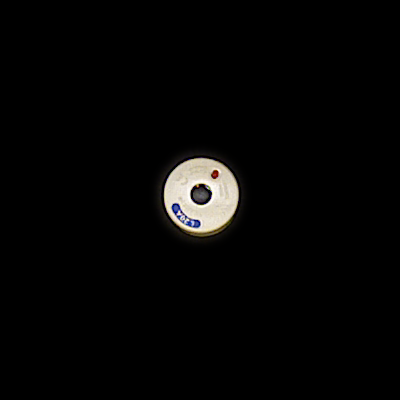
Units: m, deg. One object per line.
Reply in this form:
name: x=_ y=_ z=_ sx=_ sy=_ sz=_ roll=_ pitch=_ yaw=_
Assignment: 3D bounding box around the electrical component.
electrical component: x=0.000 y=0.000 z=0.618 sx=0.040 sy=0.040 sz=0.078 roll=0 pitch=-7 yaw=0
